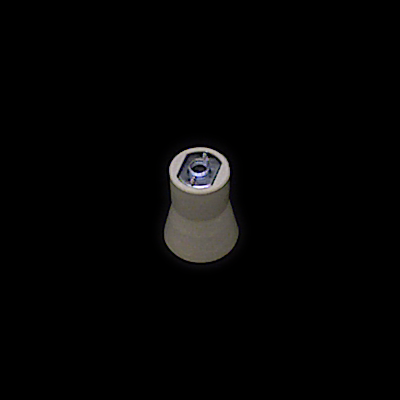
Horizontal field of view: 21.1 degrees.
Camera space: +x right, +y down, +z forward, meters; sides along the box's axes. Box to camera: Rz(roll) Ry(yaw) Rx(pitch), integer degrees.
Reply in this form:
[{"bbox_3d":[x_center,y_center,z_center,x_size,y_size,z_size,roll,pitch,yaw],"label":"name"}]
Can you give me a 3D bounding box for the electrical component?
[{"bbox_3d":[0.000,0.000,0.627,0.044,0.044,0.065,0,-38,1],"label":"electrical component"}]
